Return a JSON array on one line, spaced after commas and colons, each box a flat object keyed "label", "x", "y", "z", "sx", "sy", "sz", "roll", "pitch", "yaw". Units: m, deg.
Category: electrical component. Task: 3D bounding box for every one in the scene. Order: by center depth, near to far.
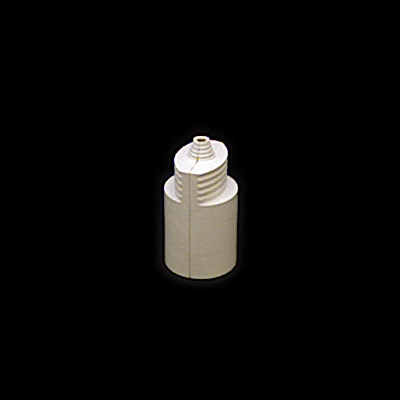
[{"label": "electrical component", "x": 0.000, "y": 0.000, "z": 0.629, "sx": 0.043, "sy": 0.082, "sz": 0.042, "roll": 1, "pitch": 31, "yaw": 0}]
